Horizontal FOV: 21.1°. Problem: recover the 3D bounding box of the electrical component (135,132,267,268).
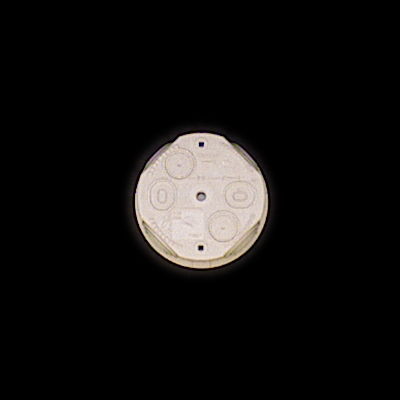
[{"bbox_3d":[0.000,0.000,0.633,0.080,0.080,0.050,0,-6,0],"label":"electrical component"}]
